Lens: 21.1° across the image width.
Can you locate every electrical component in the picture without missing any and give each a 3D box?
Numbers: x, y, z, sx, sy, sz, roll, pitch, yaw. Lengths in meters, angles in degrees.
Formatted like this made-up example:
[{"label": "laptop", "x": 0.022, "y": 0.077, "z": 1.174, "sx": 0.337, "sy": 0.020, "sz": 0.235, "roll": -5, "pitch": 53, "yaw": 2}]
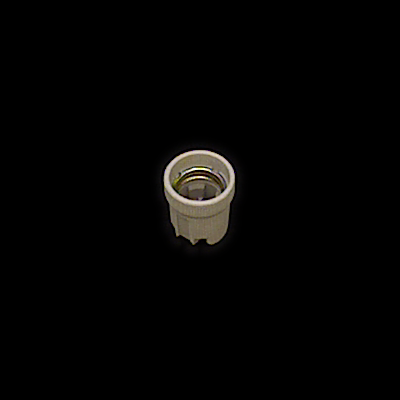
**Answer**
[{"label": "electrical component", "x": 0.000, "y": 0.000, "z": 0.629, "sx": 0.040, "sy": 0.040, "sz": 0.046, "roll": 0, "pitch": -38, "yaw": -1}]
